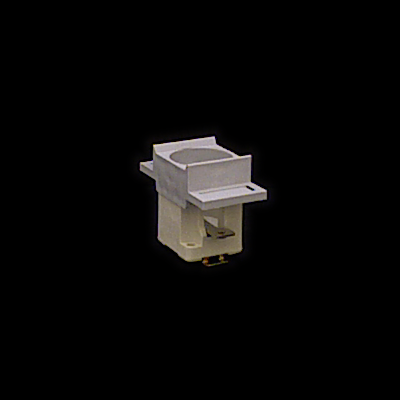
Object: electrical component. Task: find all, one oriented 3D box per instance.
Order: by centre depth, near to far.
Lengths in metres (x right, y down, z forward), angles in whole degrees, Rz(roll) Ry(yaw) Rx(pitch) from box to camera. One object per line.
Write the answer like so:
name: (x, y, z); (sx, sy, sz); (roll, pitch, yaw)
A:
electrical component: (0.000, 0.000, 0.636); (0.042, 0.064, 0.080); (-9, 23, -27)
